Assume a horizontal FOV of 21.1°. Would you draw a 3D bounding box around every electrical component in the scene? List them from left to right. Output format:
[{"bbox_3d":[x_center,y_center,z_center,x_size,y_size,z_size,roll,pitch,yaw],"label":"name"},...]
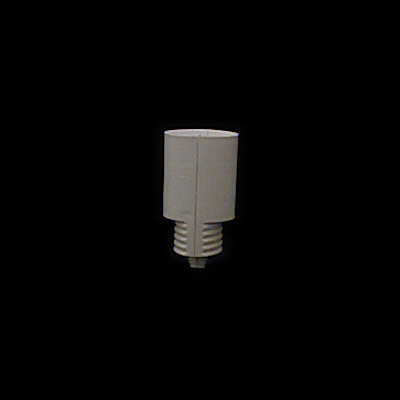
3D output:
[{"bbox_3d":[0.000,0.000,0.640,0.043,0.082,0.042,0,12,0],"label":"electrical component"}]
